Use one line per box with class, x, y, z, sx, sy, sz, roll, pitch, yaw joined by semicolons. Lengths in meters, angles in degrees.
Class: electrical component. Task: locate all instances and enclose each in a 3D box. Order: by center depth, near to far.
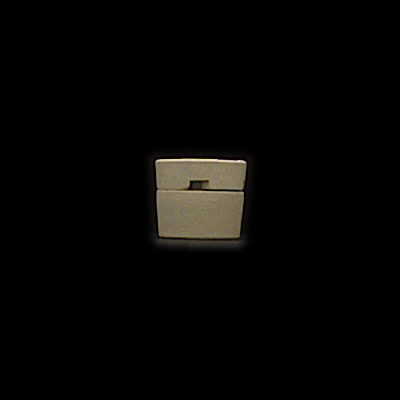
electrical component;0.000;0.000;0.650;0.055;0.047;0.055;2;1;0
